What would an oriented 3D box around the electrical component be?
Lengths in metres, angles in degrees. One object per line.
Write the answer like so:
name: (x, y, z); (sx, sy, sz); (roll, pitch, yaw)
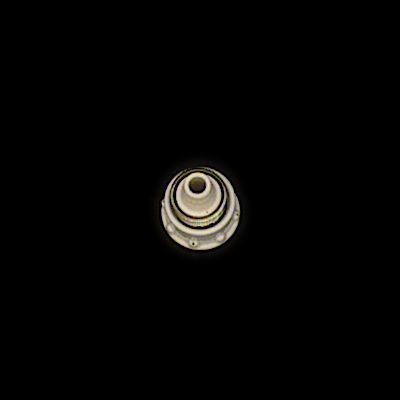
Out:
electrical component: (0.000, 0.000, 0.633); (0.048, 0.048, 0.061); (0, -17, 1)
